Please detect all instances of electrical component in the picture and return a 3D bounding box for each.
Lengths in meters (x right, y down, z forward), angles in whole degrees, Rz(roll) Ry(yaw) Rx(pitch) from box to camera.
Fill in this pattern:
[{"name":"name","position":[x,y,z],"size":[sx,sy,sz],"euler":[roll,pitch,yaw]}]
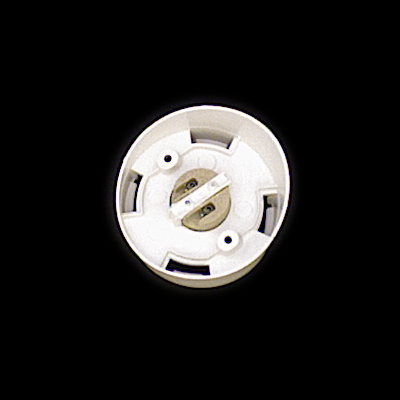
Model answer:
[{"name":"electrical component","position":[0.000,0.000,0.624],"size":[0.099,0.099,0.064],"euler":[0,-18,0]}]
